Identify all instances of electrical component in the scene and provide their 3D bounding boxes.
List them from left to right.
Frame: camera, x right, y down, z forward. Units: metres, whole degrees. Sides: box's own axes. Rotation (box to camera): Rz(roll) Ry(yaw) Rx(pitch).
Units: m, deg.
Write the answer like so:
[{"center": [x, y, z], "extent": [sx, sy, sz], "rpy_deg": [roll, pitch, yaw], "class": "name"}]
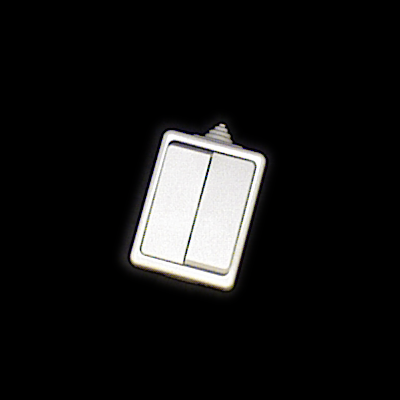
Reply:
[{"center": [0.000, 0.000, 0.627], "extent": [0.062, 0.096, 0.061], "rpy_deg": [15, -7, 2], "class": "electrical component"}]
